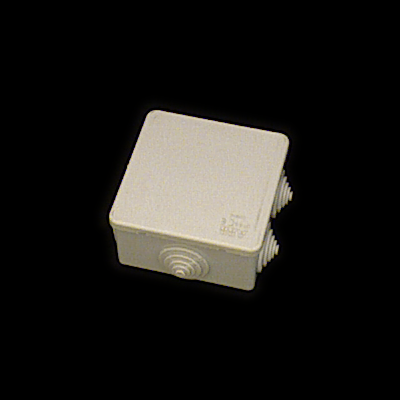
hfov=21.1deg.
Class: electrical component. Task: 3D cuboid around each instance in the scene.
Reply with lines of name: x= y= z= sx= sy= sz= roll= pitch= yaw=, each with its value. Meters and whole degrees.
electrical component: x=0.000 y=0.000 z=0.640 sx=0.099 sy=0.100 sz=0.048 roll=12 pitch=-36 yaw=8
